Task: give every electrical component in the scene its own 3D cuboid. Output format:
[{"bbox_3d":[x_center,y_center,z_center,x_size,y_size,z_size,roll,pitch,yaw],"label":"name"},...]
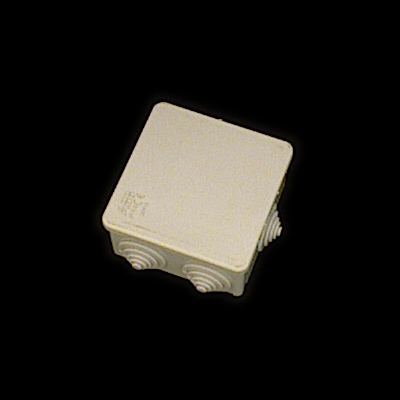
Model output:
[{"bbox_3d":[0.000,0.000,0.639,0.099,0.100,0.048,19,-25,9],"label":"electrical component"}]
